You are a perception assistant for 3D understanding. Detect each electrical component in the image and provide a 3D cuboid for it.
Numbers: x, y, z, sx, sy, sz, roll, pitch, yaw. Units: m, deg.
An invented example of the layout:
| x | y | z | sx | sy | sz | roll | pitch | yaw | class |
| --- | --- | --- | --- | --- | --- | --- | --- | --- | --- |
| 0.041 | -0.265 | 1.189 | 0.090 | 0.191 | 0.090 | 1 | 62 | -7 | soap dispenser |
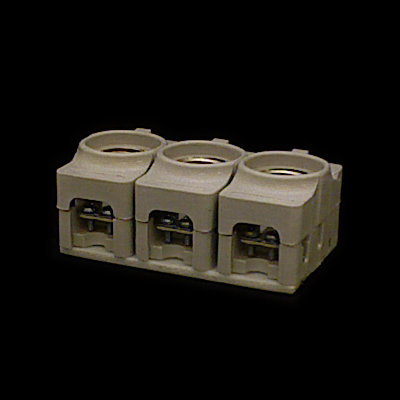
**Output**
| x | y | z | sx | sy | sz | roll | pitch | yaw | class |
| --- | --- | --- | --- | --- | --- | --- | --- | --- | --- |
| 0.000 | 0.000 | 0.647 | 0.149 | 0.063 | 0.088 | 9 | 22 | 20 | electrical component |
